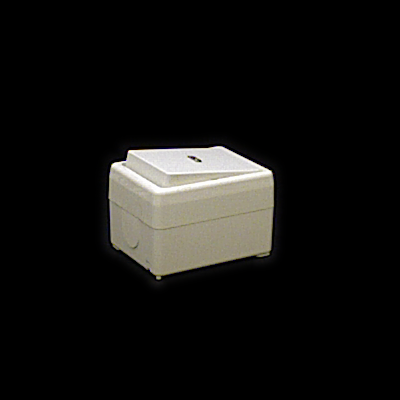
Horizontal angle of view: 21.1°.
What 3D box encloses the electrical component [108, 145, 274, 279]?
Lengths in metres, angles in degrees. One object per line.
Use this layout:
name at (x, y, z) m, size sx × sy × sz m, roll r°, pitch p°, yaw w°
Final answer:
electrical component at (0.000, 0.000, 0.640) m, size 0.096 × 0.061 × 0.061 m, roll -11°, pitch 24°, yaw -29°
